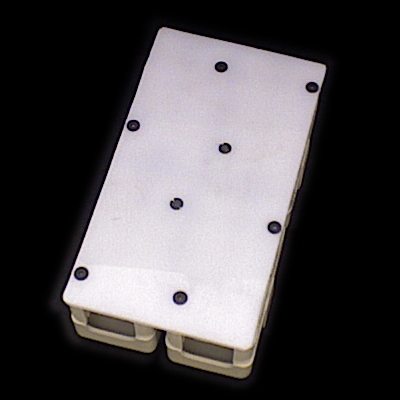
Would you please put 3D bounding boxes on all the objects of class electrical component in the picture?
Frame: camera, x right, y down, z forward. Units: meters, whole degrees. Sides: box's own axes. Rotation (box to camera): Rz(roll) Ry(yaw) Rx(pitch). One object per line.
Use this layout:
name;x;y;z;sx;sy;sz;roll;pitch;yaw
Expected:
electrical component;0.000;0.000;0.625;0.105;0.186;0.060;14;-26;7
